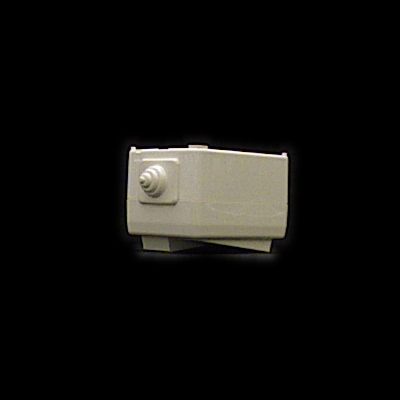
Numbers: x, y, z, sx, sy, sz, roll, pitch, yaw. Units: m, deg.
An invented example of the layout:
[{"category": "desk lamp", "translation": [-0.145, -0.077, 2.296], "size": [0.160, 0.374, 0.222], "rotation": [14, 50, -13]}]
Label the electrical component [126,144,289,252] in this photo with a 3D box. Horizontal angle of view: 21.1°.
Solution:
[{"category": "electrical component", "translation": [0.000, 0.000, 0.643], "size": [0.061, 0.061, 0.097], "rotation": [2, 0, 45]}]
